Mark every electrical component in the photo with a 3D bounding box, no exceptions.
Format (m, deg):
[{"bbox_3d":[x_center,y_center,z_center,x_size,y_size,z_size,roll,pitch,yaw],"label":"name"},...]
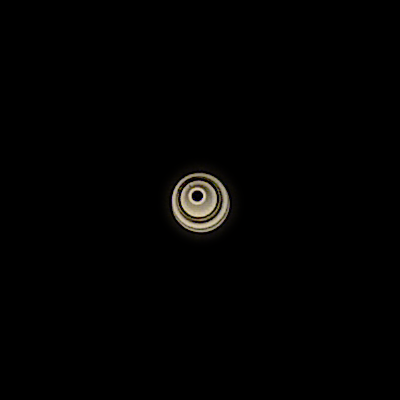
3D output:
[{"bbox_3d":[0.000,0.000,0.637,0.035,0.035,0.061,0,-6,2],"label":"electrical component"}]
